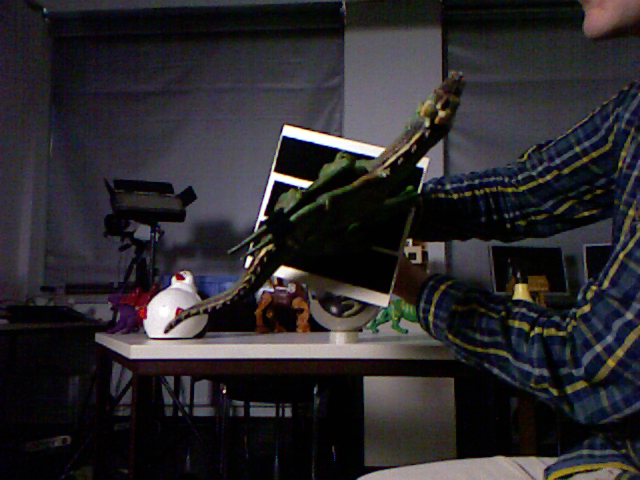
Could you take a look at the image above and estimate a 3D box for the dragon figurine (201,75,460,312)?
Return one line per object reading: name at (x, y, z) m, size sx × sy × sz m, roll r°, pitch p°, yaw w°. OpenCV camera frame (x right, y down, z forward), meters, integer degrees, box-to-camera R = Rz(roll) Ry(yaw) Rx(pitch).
dragon figurine at (-0.007, -0.026, 0.566) m, size 0.411 × 0.123 × 0.243 m, roll -40°, pitch -7°, yaw 5°
